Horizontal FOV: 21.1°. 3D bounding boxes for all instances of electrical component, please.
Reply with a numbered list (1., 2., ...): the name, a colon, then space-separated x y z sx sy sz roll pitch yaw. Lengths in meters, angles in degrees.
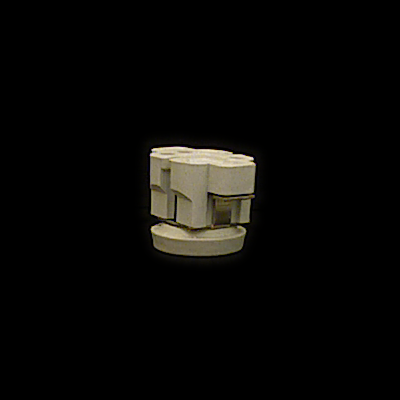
1. electrical component: 0.000 0.000 0.651 0.058 0.057 0.077 -7 15 -37
